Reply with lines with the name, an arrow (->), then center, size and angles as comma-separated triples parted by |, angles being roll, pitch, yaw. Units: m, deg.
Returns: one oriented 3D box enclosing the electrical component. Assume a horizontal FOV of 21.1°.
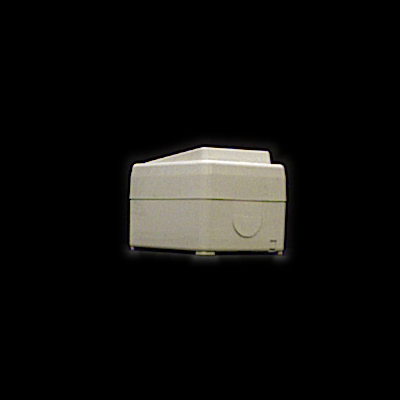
electrical component -> 0.000, 0.000, 0.652 | 0.062, 0.061, 0.096 | 1, 0, -36
